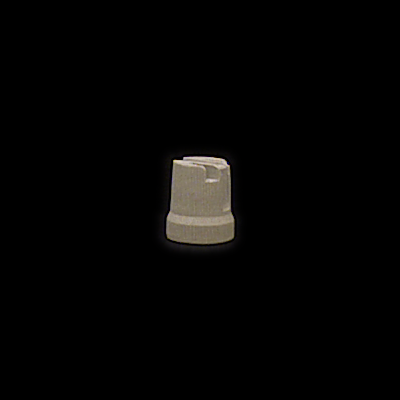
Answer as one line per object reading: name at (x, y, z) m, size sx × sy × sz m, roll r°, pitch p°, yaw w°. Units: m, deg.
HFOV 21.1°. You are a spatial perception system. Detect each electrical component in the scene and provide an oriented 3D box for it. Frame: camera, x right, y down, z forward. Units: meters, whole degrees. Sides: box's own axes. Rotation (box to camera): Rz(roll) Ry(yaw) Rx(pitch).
electrical component at (0.000, 0.000, 0.645) m, size 0.040 × 0.046 × 0.040 m, roll 1°, pitch 11°, yaw 0°
